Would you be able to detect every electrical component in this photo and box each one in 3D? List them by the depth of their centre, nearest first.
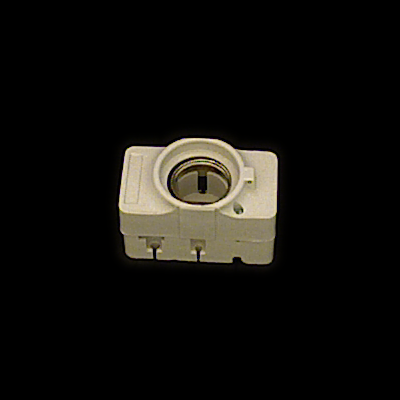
[{"bbox_3d":[0.000,0.000,0.637,0.089,0.050,0.056,2,-37,1],"label":"electrical component"}]
